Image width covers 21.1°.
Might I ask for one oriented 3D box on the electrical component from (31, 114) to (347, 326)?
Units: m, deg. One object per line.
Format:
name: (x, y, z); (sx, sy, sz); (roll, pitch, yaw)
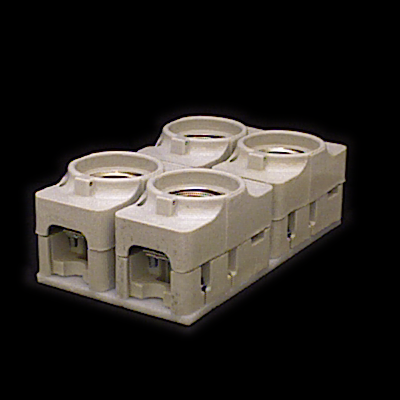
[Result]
electrical component: (0.000, 0.000, 0.638); (0.105, 0.061, 0.185); (14, 24, 30)
